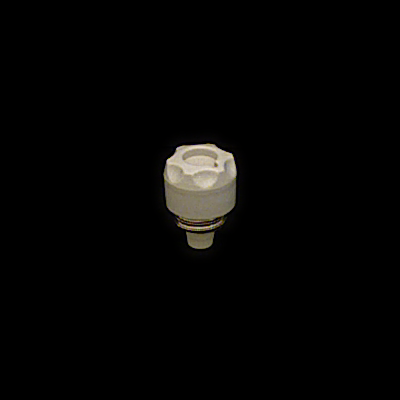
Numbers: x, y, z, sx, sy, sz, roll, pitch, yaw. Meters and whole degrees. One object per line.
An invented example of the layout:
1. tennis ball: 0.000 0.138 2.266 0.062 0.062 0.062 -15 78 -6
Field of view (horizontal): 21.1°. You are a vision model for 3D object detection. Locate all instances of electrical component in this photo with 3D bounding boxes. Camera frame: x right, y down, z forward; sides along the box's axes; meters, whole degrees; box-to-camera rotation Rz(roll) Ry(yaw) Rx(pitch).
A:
1. electrical component: 0.000 0.000 0.642 0.043 0.063 0.043 0 32 0
